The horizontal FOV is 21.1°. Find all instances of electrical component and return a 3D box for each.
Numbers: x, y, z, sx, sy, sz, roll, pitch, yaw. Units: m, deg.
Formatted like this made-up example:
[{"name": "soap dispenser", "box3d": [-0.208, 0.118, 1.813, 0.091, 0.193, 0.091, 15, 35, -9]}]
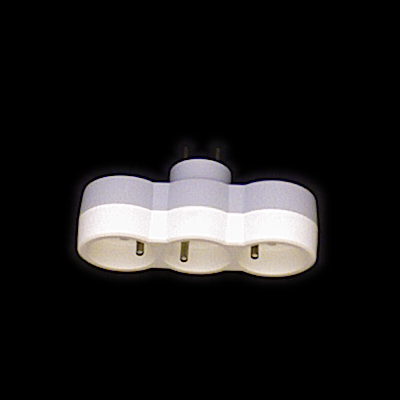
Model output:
[{"name": "electrical component", "box3d": [0.000, 0.000, 0.630, 0.138, 0.074, 0.052, 2, -29, 1]}]
